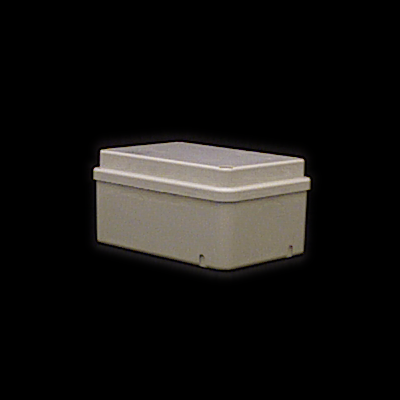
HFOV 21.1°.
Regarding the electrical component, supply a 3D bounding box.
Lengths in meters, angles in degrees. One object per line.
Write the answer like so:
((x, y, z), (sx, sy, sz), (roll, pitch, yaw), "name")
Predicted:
((0.000, 0.000, 0.642), (0.112, 0.057, 0.078), (11, 14, 42), "electrical component")
